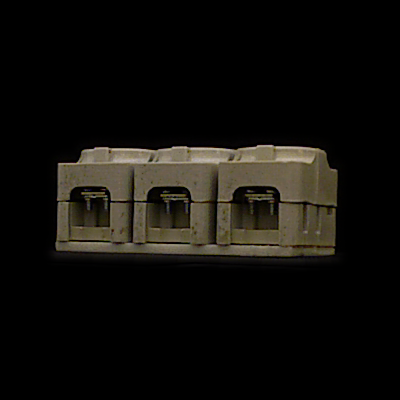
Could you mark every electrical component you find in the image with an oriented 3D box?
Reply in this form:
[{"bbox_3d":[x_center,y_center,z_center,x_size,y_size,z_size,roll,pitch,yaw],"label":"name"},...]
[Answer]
[{"bbox_3d":[0.000,0.000,0.655,0.150,0.062,0.089,0,0,22],"label":"electrical component"}]
